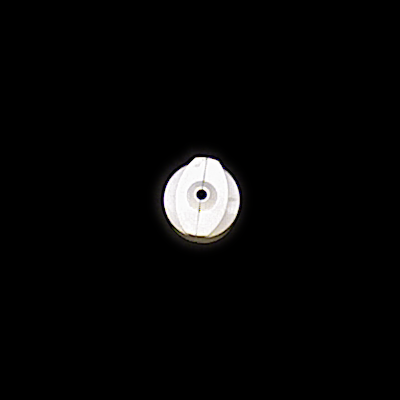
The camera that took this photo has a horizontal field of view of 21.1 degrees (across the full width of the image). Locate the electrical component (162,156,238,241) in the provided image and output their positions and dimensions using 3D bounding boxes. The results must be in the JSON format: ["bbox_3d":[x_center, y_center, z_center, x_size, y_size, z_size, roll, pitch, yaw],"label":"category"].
[{"bbox_3d":[0.000,0.000,0.616,0.043,0.043,0.080,0,-6,1],"label":"electrical component"}]
